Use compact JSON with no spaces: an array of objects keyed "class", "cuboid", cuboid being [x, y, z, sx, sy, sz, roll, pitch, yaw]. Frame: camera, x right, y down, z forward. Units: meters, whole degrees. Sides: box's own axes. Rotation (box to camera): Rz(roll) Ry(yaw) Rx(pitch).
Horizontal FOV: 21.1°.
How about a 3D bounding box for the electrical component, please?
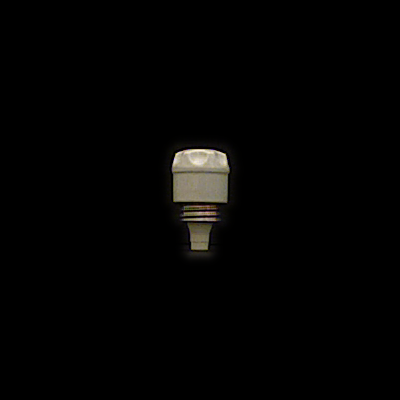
[{"class":"electrical component","cuboid":[0.000,0.000,0.658,0.035,0.061,0.035,1,1,1]}]
